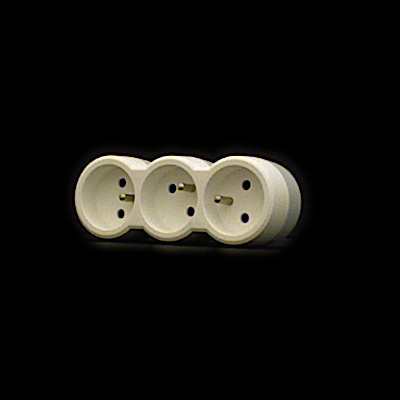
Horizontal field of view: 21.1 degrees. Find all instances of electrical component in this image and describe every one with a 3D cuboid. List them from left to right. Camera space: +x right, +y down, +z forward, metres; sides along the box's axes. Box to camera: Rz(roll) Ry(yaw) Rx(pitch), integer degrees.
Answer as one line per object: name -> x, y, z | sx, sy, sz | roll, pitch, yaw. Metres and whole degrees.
electrical component -> 0.000, 0.000, 0.659 | 0.137, 0.052, 0.074 | 2, 0, 30
